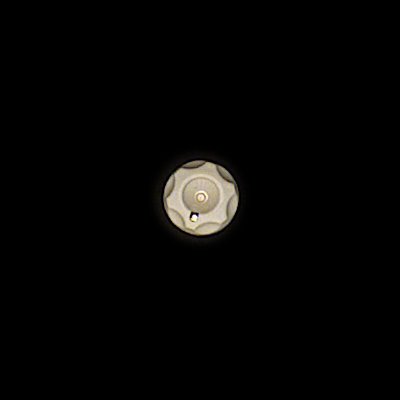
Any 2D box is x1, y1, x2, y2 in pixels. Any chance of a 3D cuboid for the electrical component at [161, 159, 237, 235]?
[{"bbox_3d":[0.000,0.000,0.635,0.043,0.043,0.062,0,-6,1],"label":"electrical component"}]
